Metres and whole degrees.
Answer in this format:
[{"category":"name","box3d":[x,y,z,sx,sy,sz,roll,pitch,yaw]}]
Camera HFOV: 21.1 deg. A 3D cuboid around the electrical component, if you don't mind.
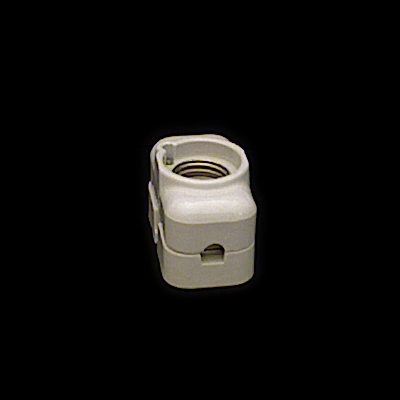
[{"category":"electrical component","box3d":[0.000,0.000,0.641,0.054,0.060,0.093,-4,32,-9]}]
